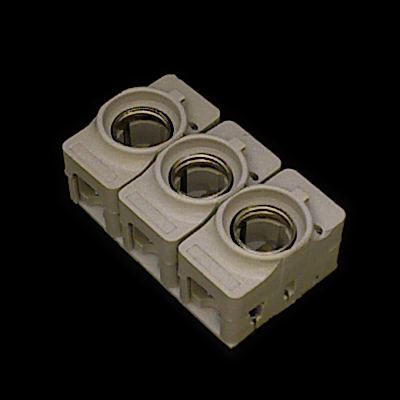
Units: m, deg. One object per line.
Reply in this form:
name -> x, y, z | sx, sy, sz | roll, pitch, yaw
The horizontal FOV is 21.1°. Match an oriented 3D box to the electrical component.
electrical component -> 0.000, 0.000, 0.634 | 0.089, 0.062, 0.149 | -36, 61, -25
